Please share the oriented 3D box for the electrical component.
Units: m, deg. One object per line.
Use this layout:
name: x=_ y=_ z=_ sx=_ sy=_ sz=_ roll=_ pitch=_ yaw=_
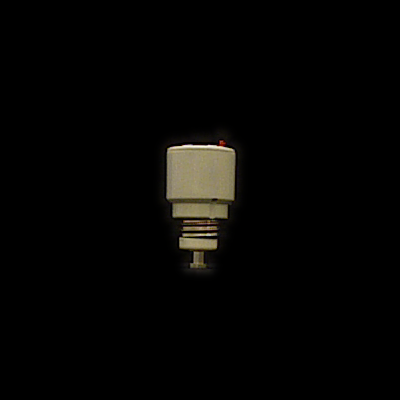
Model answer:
electrical component: x=0.000 y=0.000 z=0.650 sx=0.040 sy=0.078 sz=0.040 roll=2 pitch=1 yaw=0
